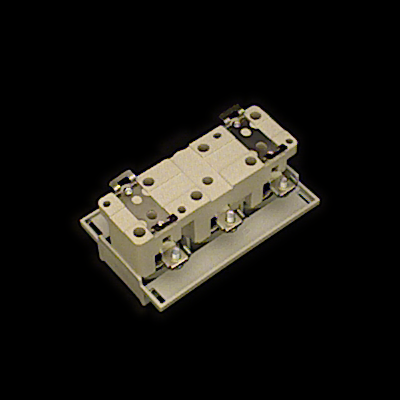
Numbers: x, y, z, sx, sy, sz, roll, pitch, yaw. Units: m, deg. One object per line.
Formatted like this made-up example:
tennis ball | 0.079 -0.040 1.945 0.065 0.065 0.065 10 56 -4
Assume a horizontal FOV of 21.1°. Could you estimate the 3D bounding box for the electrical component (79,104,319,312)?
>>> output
electrical component | 0.000 0.000 0.636 0.122 0.078 0.063 -33 -31 -23
